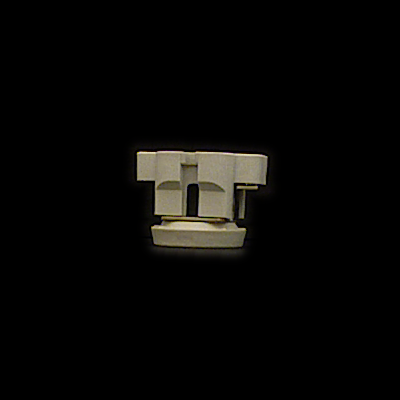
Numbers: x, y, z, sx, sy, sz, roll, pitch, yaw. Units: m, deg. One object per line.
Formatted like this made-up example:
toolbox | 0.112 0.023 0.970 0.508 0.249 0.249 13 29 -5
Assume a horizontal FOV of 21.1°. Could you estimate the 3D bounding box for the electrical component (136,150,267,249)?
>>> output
electrical component | 0.000 0.000 0.658 0.078 0.057 0.058 3 1 15
